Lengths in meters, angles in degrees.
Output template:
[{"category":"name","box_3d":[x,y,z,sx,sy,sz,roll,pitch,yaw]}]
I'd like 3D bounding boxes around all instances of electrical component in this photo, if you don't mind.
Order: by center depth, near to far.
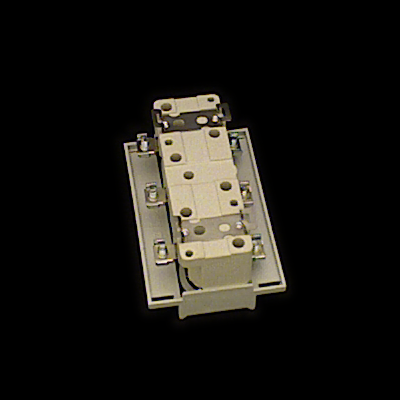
[{"category":"electrical component","box_3d":[0.000,0.000,0.636,0.079,0.120,0.063,-7,-36,-6]}]
